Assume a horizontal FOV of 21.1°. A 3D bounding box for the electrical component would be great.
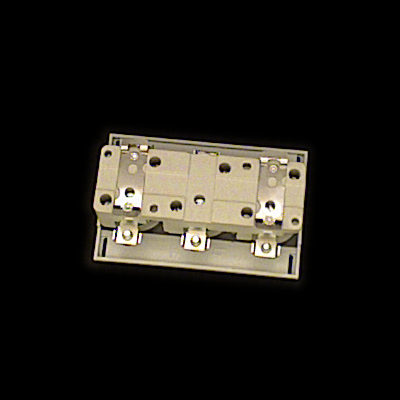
[{"bbox_3d":[0.000,0.000,0.635,0.121,0.079,0.063,5,-17,2],"label":"electrical component"}]
